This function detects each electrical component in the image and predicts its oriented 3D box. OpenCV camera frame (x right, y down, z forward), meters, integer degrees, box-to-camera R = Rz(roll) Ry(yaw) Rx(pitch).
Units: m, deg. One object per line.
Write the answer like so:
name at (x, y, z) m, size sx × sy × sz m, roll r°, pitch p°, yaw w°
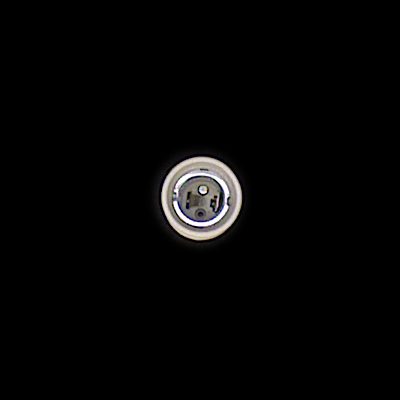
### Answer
electrical component at (0.000, 0.000, 0.629) m, size 0.045 × 0.045 × 0.055 m, roll 0°, pitch -6°, yaw 0°
